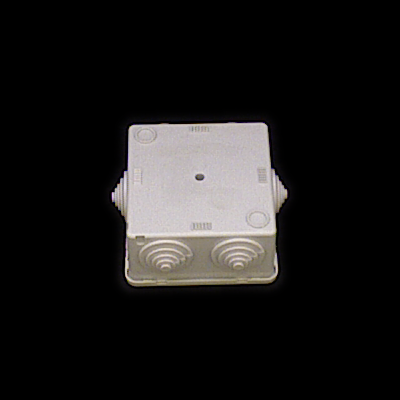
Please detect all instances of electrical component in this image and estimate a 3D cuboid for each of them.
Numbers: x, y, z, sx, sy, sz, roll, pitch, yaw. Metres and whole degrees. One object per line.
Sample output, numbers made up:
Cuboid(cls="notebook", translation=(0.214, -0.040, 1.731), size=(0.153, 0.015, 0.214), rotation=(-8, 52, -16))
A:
Cuboid(cls="electrical component", translation=(0.000, 0.000, 0.632), size=(0.100, 0.099, 0.049), rotation=(-1, -37, -1))
